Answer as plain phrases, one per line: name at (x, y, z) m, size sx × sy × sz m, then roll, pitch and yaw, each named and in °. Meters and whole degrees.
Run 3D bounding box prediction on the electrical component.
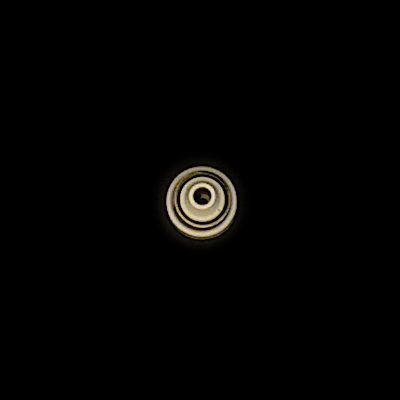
electrical component at (0.000, 0.000, 0.635) m, size 0.043 × 0.043 × 0.062 m, roll 0°, pitch -6°, yaw 0°
